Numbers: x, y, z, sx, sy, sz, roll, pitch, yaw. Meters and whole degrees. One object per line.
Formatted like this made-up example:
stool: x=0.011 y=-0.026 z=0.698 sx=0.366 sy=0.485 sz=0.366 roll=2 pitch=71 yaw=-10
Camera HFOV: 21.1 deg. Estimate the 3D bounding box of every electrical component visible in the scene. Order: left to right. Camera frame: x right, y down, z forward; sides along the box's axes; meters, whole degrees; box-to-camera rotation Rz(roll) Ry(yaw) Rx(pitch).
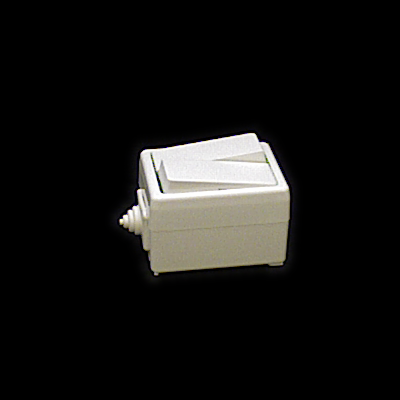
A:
electrical component: x=0.000 y=0.000 z=0.634 sx=0.096 sy=0.061 sz=0.061 roll=-4 pitch=31 yaw=-8
